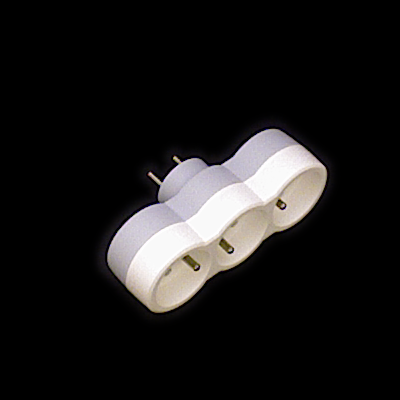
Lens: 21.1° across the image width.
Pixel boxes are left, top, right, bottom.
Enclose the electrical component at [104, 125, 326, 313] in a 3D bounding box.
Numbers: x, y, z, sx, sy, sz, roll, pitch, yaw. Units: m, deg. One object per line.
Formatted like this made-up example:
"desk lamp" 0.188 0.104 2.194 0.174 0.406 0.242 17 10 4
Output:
"electrical component" 0.000 0.000 0.630 0.138 0.052 0.073 -34 58 -23
